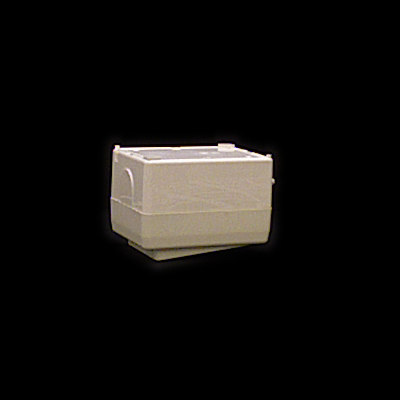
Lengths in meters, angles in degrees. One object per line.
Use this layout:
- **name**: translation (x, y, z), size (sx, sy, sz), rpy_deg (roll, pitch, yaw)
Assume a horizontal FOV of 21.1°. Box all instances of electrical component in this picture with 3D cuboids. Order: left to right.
- **electrical component**: translation (0.000, 0.000, 0.643), size (0.096, 0.061, 0.061), rpy_deg (-2, 11, -24)
